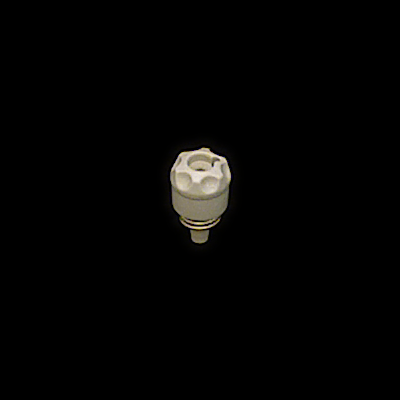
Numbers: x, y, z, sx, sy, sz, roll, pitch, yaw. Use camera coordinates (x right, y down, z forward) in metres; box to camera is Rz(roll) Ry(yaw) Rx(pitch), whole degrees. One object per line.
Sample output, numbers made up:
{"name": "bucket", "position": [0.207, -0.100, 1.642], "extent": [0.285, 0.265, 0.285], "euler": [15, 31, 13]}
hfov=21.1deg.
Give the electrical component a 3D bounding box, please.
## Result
{"name": "electrical component", "position": [0.000, 0.000, 0.637], "extent": [0.035, 0.062, 0.035], "euler": [1, 43, 0]}
